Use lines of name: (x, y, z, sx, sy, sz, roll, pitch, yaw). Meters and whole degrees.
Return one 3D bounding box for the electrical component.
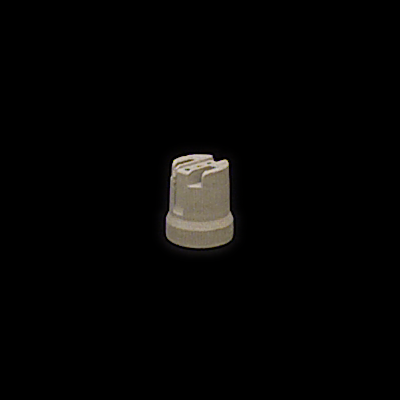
electrical component: (0.000, 0.000, 0.641, 0.040, 0.046, 0.040, 1, 21, 0)
